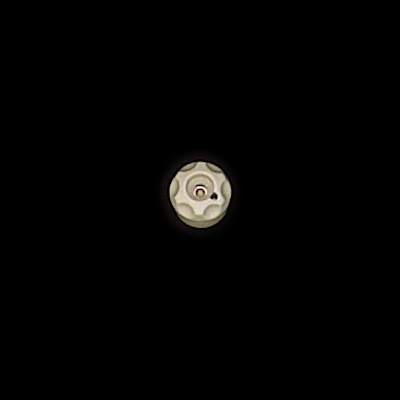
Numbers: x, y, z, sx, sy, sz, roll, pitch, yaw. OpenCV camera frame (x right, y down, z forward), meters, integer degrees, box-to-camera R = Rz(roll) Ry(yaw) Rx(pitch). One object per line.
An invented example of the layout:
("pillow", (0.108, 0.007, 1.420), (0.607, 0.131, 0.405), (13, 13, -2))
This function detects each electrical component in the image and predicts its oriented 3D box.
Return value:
("electrical component", (0.000, 0.000, 0.633), (0.035, 0.035, 0.061), (0, -15, 1))
